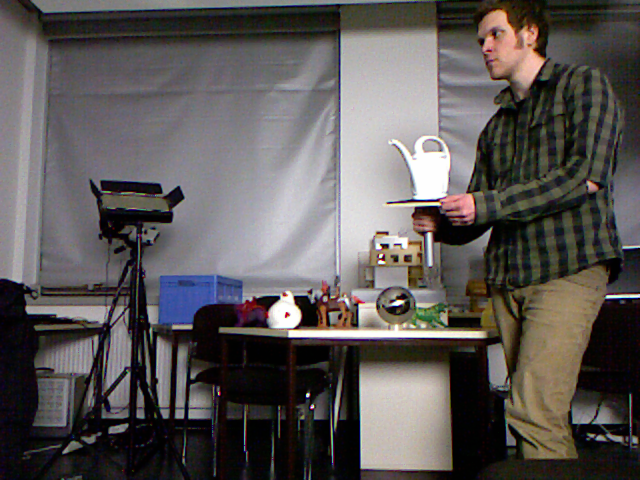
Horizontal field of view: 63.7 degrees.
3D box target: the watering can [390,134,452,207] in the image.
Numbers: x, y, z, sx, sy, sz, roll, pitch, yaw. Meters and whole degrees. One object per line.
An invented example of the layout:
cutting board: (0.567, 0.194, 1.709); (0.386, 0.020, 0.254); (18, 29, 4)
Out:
watering can: (0.311, -0.211, 1.575); (0.104, 0.223, 0.350); (6, 10, 41)
